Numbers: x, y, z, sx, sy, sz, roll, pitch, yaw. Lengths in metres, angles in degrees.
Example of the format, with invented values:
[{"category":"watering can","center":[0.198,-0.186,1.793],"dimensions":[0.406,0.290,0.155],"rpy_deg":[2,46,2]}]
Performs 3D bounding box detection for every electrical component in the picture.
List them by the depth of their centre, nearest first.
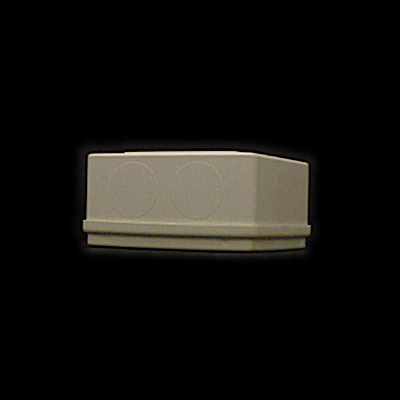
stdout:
[{"category":"electrical component","center":[0.000,0.000,0.651],"dimensions":[0.108,0.056,0.109],"rpy_deg":[1,-1,23]}]
